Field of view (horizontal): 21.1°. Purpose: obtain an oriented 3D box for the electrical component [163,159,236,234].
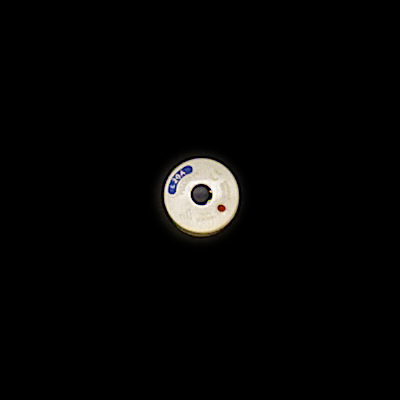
[{"bbox_3d":[0.000,0.000,0.617,0.040,0.040,0.078,0,-6,0],"label":"electrical component"}]
